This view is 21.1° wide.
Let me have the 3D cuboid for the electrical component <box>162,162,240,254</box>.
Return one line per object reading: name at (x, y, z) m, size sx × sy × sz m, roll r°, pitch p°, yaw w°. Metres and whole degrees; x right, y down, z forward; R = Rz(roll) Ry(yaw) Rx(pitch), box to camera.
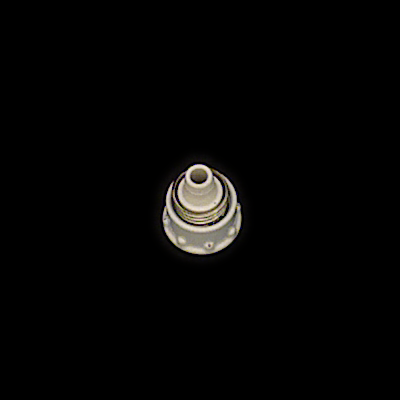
electrical component at (0.000, 0.000, 0.633) m, size 0.048 × 0.048 × 0.062 m, roll 0°, pitch -27°, yaw 1°
